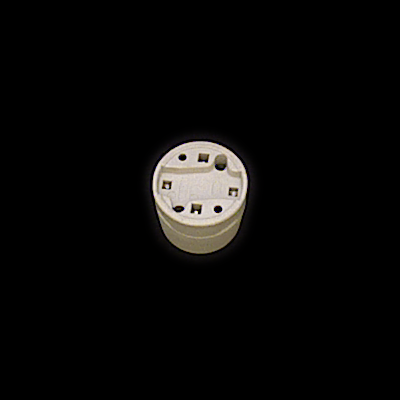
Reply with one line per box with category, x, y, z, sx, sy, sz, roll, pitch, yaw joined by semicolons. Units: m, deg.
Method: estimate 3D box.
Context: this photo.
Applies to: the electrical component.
electrical component;0.000;0.000;0.634;0.055;0.056;0.047;0;-28;-1
